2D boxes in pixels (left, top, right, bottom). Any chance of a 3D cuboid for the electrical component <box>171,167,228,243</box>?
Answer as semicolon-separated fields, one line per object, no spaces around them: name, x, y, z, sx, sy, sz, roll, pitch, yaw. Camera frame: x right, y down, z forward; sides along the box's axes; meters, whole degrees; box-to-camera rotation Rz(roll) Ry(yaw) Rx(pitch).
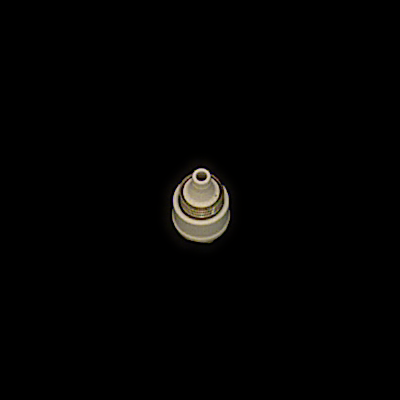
electrical component;0.000;0.000;0.638;0.035;0.035;0.061;0;-27;-1
